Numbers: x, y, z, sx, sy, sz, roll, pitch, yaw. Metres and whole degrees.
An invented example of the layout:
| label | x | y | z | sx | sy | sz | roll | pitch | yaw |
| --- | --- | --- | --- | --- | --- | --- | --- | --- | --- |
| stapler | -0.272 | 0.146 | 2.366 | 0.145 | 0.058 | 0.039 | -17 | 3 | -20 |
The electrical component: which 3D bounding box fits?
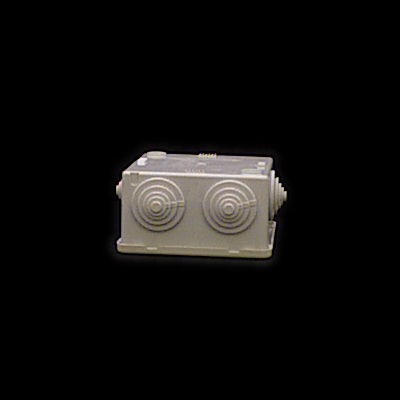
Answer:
| label | x | y | z | sx | sy | sz | roll | pitch | yaw |
| --- | --- | --- | --- | --- | --- | --- | --- | --- | --- |
| electrical component | 0.000 | 0.000 | 0.645 | 0.099 | 0.049 | 0.099 | 2 | 10 | 5 |
